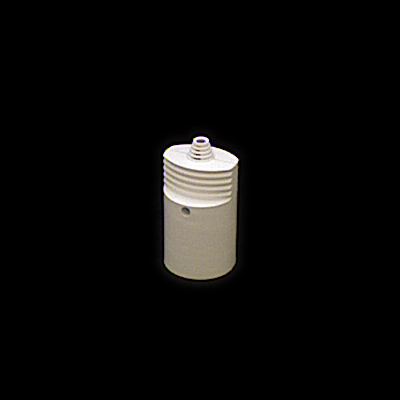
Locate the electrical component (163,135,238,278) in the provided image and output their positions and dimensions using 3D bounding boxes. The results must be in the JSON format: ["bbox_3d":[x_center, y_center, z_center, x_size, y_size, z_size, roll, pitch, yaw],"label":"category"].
[{"bbox_3d":[0.000,0.000,0.629,0.043,0.082,0.042,1,31,0],"label":"electrical component"}]
